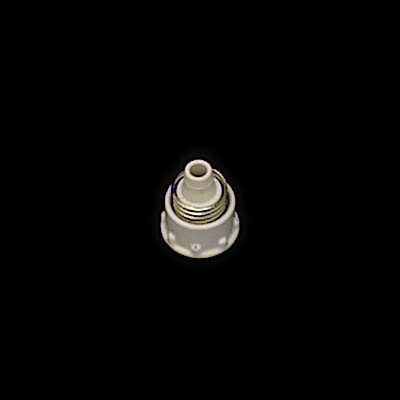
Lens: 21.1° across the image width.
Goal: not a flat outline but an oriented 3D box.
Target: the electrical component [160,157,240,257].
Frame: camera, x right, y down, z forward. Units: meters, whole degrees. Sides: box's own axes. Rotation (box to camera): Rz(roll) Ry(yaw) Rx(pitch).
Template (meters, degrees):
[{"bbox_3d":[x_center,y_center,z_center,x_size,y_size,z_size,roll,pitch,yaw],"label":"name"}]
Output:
[{"bbox_3d":[0.000,0.000,0.634,0.048,0.048,0.062,0,-37,1],"label":"electrical component"}]
